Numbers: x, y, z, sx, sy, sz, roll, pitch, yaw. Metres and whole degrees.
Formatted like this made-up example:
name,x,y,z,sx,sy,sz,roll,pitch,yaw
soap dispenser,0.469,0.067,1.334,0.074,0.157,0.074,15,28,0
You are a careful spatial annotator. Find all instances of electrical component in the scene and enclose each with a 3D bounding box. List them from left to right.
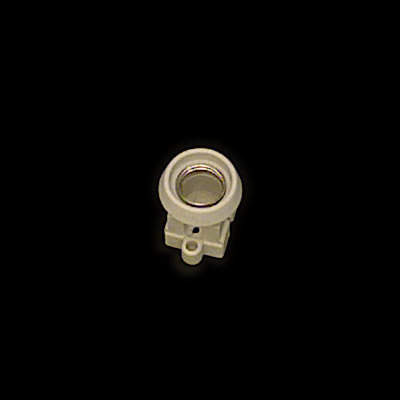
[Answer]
name,x,y,z,sx,sy,sz,roll,pitch,yaw
electrical component,0.000,0.000,0.637,0.048,0.066,0.055,13,-26,5
